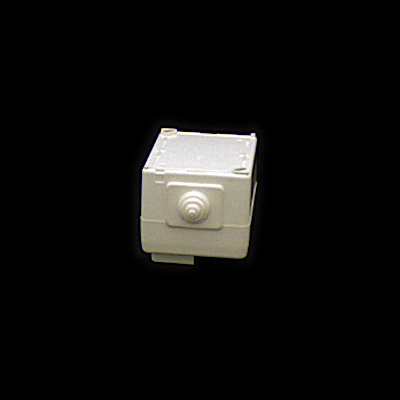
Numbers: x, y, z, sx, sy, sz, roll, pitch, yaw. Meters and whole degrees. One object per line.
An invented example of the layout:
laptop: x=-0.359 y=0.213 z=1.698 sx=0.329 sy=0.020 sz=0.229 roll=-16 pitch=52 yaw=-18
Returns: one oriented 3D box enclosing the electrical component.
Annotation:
electrical component: x=0.000 y=0.000 z=0.631 sx=0.062 sy=0.061 sz=0.095 roll=3 pitch=20 yaw=5
